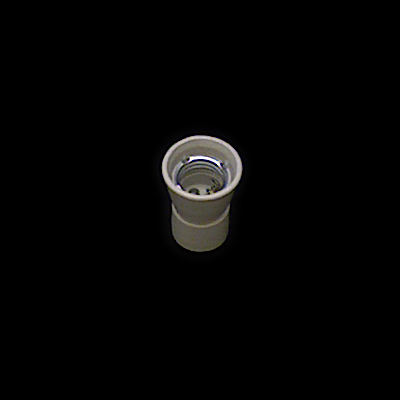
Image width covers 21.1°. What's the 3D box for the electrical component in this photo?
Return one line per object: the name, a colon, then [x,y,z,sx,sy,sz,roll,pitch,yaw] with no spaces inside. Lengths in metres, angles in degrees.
electrical component: [0.000,0.000,0.625,0.044,0.044,0.065,0,-37,-1]
